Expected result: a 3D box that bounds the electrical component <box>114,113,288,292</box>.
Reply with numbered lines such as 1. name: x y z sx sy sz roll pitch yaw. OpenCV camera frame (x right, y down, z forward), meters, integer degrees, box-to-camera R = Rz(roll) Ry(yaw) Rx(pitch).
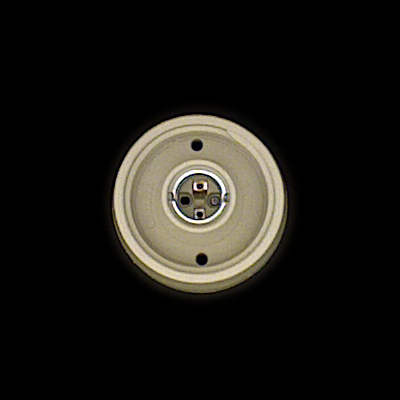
1. electrical component: 0.000 0.000 0.635 0.108 0.108 0.060 0 -6 0
